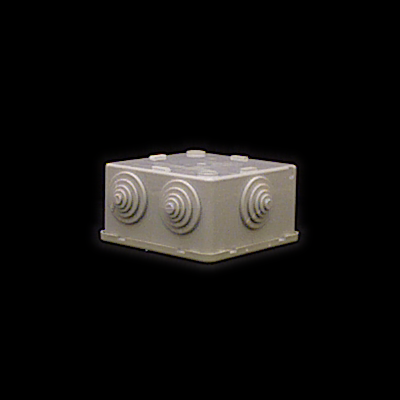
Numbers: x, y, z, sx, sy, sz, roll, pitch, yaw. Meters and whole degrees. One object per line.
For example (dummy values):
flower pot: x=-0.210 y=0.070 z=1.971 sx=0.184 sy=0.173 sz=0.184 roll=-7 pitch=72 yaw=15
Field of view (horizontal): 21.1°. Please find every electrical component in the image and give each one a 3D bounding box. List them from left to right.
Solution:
electrical component: x=0.000 y=0.000 z=0.645 sx=0.099 sy=0.049 sz=0.099 roll=10 pitch=14 yaw=39
